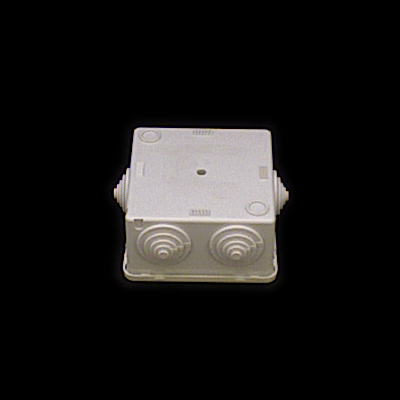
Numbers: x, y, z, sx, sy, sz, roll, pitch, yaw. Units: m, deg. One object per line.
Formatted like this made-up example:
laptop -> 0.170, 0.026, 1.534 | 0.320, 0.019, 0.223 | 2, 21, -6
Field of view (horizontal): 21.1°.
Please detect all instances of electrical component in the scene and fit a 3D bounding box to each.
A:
electrical component -> 0.000, 0.000, 0.634 | 0.100, 0.049, 0.099 | 1, 42, 0
